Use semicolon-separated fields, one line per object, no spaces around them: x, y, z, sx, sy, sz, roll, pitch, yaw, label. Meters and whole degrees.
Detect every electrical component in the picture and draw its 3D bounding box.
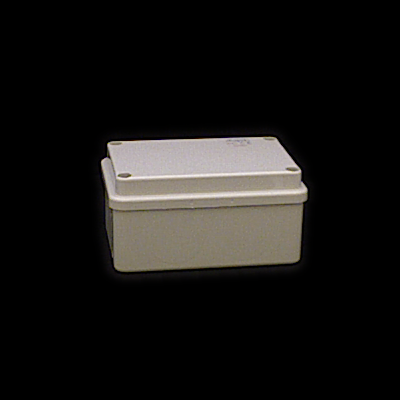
0.000;0.000;0.641;0.113;0.058;0.077;-2;21;-9;electrical component
